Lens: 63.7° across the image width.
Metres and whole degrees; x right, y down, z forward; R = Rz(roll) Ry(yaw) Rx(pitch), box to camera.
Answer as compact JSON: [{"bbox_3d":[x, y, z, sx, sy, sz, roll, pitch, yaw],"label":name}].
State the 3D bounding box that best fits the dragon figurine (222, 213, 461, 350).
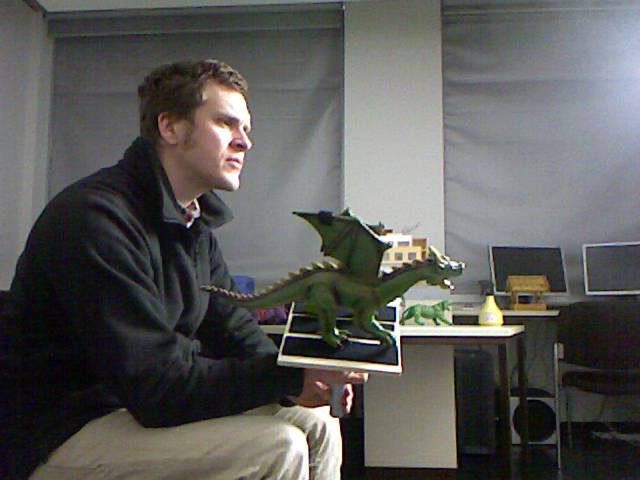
[{"bbox_3d":[0.023,0.053,0.864,0.412,0.238,0.125,6,33,6],"label":"dragon figurine"}]
